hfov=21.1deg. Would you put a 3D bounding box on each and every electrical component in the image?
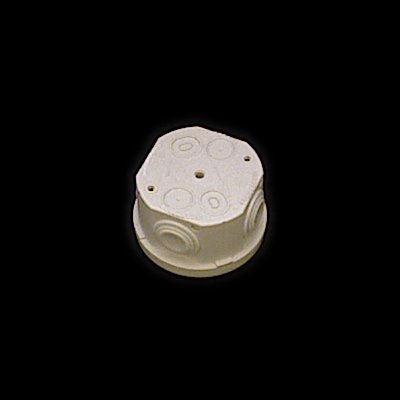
[{"bbox_3d":[0.000,0.000,0.632,0.080,0.080,0.051,0,-37,0],"label":"electrical component"}]
